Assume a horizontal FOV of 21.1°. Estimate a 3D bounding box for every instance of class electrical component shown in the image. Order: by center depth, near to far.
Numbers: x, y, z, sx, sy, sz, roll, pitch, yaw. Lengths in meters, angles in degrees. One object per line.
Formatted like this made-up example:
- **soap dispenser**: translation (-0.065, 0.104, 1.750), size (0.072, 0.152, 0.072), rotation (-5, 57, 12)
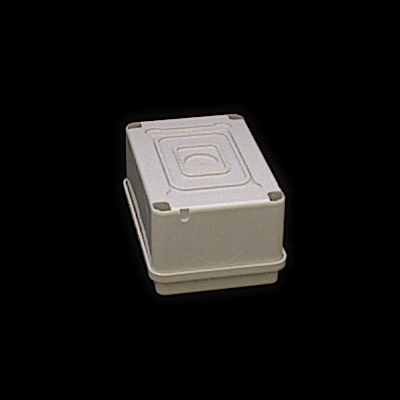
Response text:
- **electrical component**: translation (0.000, 0.000, 0.635), size (0.078, 0.058, 0.111), rotation (-6, 31, -10)
